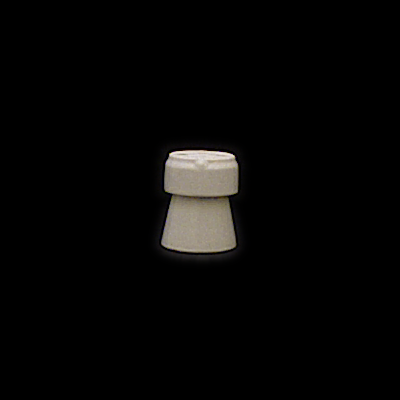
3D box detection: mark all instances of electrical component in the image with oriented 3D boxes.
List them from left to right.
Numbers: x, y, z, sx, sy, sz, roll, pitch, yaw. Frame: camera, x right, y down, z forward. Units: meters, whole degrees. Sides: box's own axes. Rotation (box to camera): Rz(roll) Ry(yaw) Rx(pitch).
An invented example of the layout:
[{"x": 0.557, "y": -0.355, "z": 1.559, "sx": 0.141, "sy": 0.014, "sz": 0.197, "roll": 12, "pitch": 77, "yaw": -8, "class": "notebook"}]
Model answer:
[{"x": 0.000, "y": 0.000, "z": 0.645, "sx": 0.045, "sy": 0.055, "sz": 0.044, "roll": 1, "pitch": 12, "yaw": 0, "class": "electrical component"}]
